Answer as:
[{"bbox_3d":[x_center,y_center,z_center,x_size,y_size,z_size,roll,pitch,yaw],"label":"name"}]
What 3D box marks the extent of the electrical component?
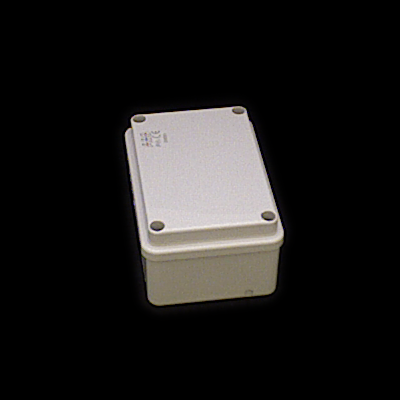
[{"bbox_3d":[0.000,0.000,0.630,0.078,0.057,0.112,-5,43,-7],"label":"electrical component"}]
